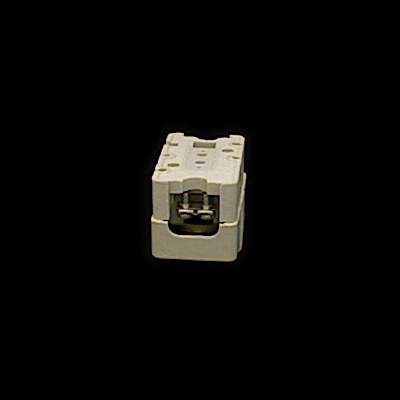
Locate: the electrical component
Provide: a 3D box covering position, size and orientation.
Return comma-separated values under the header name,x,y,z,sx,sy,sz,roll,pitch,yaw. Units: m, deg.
name,x,y,z,sx,sy,sz,roll,pitch,yaw
electrical component,0.000,0.000,0.646,0.050,0.056,0.088,2,21,5
